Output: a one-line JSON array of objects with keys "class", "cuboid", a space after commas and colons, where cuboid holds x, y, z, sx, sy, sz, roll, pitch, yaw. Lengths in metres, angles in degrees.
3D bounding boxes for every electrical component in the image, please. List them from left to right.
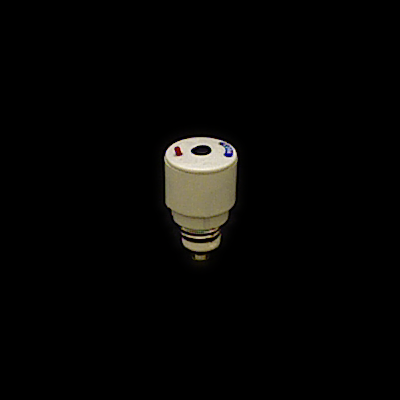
[{"class": "electrical component", "cuboid": [0.000, 0.000, 0.629, 0.040, 0.079, 0.039, 0, 31, 0]}]
